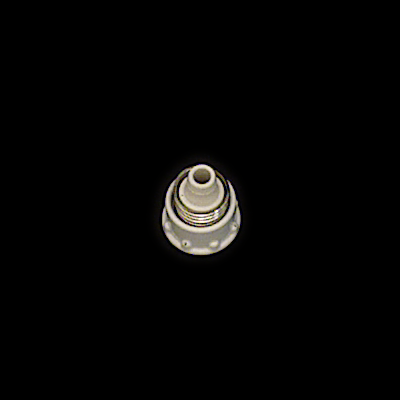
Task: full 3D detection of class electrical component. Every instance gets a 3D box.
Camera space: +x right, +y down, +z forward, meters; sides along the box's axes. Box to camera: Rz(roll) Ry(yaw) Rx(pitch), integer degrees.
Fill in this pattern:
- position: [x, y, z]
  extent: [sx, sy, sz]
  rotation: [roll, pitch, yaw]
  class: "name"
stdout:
- position: [0.000, 0.000, 0.634]
  extent: [0.048, 0.048, 0.062]
  rotation: [0, -27, -1]
  class: "electrical component"
